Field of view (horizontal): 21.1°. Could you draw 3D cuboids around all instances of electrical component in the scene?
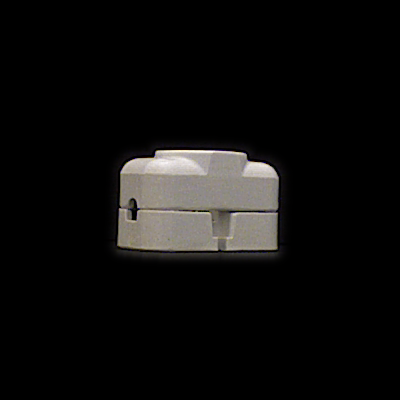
[{"bbox_3d":[0.000,0.000,0.658,0.096,0.059,0.053,1,2,-34],"label":"electrical component"}]
